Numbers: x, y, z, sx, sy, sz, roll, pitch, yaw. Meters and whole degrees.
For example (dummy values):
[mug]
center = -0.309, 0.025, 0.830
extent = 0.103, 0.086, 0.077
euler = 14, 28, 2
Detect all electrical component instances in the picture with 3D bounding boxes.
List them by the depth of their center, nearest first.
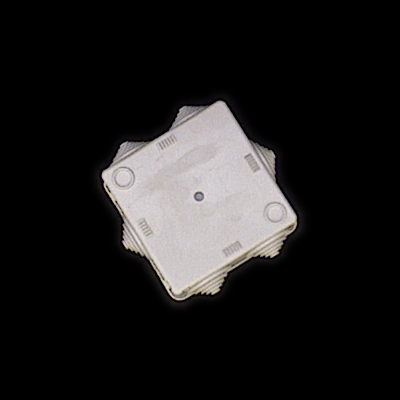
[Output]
[electrical component]
center = 0.000, 0.000, 0.632
extent = 0.100, 0.100, 0.048
euler = -32, -6, -4
